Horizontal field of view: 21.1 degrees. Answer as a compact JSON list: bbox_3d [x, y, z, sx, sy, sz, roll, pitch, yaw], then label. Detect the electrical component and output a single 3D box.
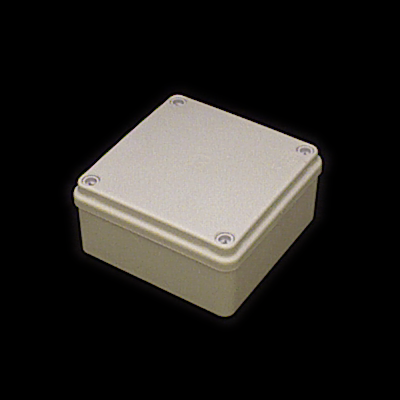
[{"bbox_3d":[0.000,0.000,0.632,0.108,0.056,0.108,23,47,23],"label":"electrical component"}]
